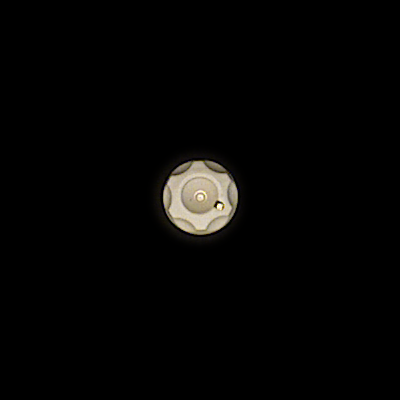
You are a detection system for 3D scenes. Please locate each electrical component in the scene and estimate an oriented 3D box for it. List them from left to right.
[{"bbox_3d":[0.000,0.000,0.635,0.043,0.043,0.062,0,-5,2],"label":"electrical component"}]
